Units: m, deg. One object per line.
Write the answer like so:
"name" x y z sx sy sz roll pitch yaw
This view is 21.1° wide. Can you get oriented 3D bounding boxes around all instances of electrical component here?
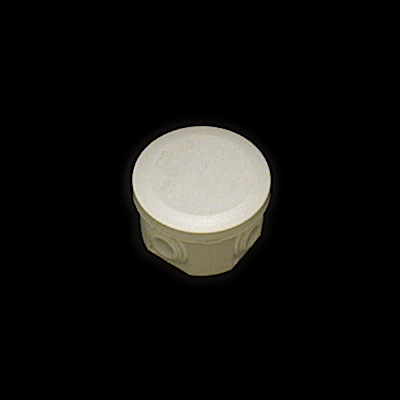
"electrical component" 0.000 0.000 0.633 0.080 0.080 0.051 0 -38 -1
